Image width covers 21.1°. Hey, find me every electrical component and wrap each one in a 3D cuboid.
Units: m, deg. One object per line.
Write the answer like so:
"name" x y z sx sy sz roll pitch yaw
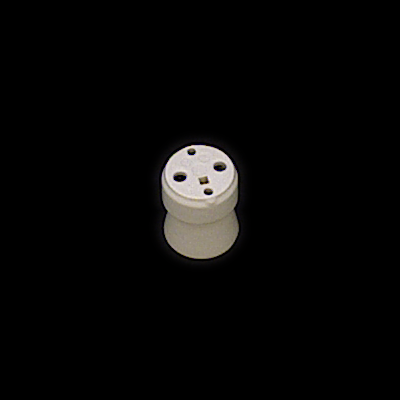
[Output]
"electrical component" 0.000 0.000 0.630 0.045 0.044 0.055 0 -38 0
